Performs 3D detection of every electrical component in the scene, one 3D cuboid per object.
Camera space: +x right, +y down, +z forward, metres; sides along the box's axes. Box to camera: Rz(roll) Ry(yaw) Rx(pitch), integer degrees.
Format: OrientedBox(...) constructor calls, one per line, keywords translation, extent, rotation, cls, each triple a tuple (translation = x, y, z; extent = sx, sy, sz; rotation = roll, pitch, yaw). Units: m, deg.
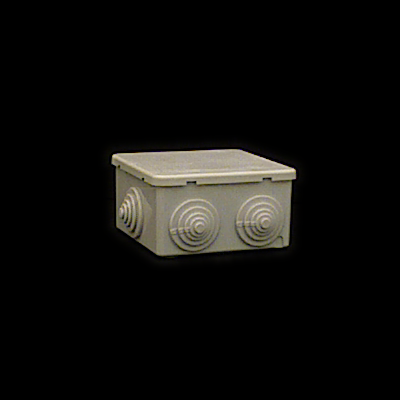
OrientedBox(translation=(0.000, 0.000, 0.650), extent=(0.100, 0.049, 0.098), rotation=(-3, 12, -22), cls="electrical component")
